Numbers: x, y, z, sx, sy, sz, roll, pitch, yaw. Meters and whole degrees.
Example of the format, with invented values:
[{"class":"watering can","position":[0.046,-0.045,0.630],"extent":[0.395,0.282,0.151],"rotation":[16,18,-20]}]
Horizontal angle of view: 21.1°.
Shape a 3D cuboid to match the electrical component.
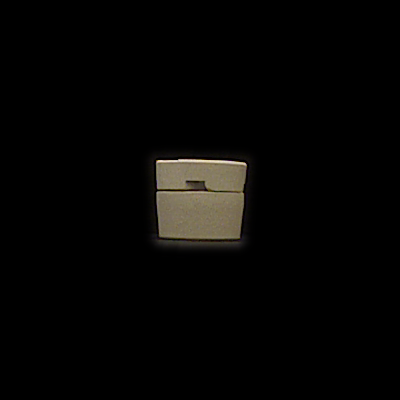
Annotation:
[{"class":"electrical component","position":[0.000,0.000,0.652],"extent":[0.055,0.047,0.055],"rotation":[1,1,0]}]
